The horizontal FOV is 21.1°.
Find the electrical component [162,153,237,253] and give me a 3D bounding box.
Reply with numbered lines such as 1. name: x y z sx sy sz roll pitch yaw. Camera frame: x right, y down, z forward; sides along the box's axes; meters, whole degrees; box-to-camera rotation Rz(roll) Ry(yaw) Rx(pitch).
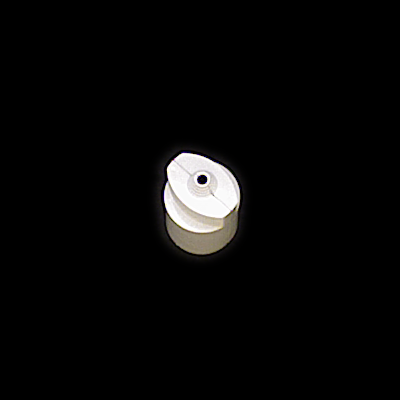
1. electrical component: 0.000 0.000 0.616 0.043 0.043 0.080 0 -17 0
